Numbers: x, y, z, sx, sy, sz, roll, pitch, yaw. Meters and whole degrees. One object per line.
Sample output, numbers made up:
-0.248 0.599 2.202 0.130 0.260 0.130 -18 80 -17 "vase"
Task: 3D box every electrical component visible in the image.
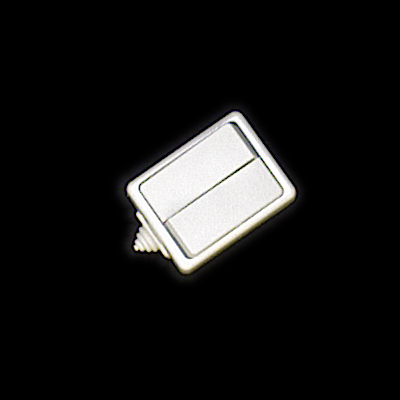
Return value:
0.000 0.000 0.627 0.096 0.062 0.061 -34 -6 -4 "electrical component"
